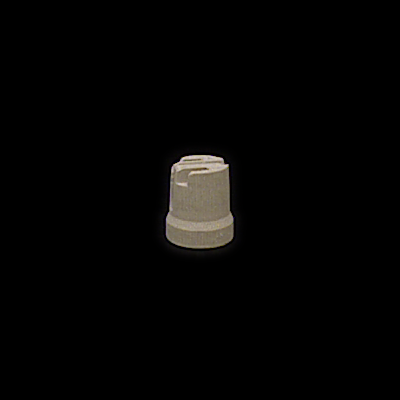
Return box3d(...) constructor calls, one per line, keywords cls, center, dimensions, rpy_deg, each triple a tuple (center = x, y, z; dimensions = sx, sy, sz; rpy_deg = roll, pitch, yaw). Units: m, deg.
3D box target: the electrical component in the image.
box3d(cls="electrical component", center=(0.000, 0.000, 0.642), dimensions=(0.040, 0.046, 0.040), rpy_deg=(1, 21, 0))
